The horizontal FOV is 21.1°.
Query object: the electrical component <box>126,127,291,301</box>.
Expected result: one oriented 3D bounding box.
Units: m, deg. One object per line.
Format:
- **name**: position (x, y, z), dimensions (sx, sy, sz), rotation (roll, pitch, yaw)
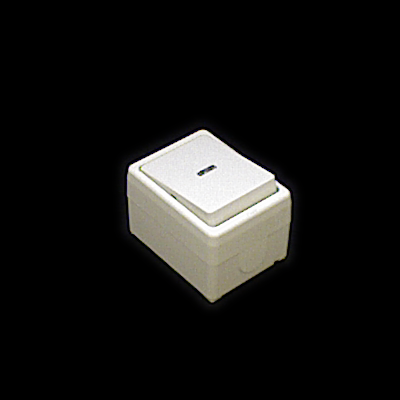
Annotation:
- **electrical component**: position (0.000, 0.000, 0.632), dimensions (0.061, 0.061, 0.095), rotation (-29, 50, -29)
